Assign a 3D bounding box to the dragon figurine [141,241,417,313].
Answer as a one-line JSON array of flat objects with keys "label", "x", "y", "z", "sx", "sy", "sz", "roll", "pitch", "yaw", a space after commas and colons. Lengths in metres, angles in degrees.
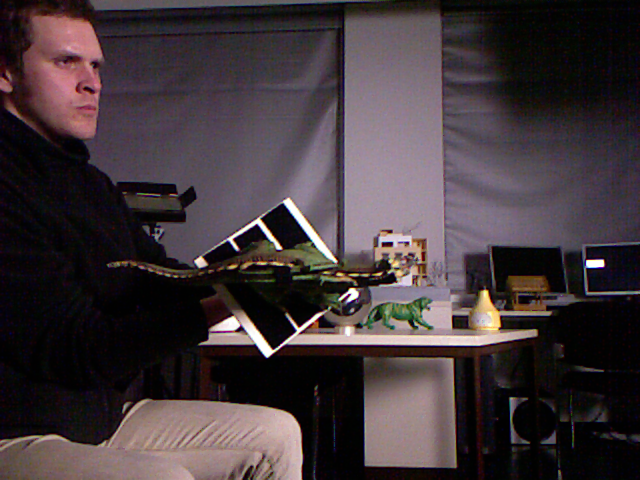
[{"label": "dragon figurine", "x": -0.057, "y": 0.045, "z": 0.762, "sx": 0.413, "sy": 0.124, "sz": 0.242, "roll": -1, "pitch": -9, "yaw": -14}]
